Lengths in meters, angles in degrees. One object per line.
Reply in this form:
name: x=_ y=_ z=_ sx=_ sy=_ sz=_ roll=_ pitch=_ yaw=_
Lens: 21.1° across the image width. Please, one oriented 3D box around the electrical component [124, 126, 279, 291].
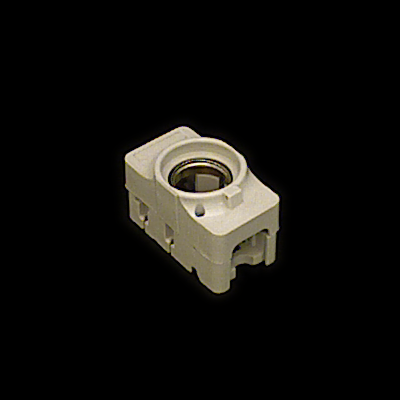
electrical component: x=0.000 y=0.000 z=0.639 sx=0.050 sy=0.056 sz=0.088 roll=-30 pitch=50 yaw=-28
